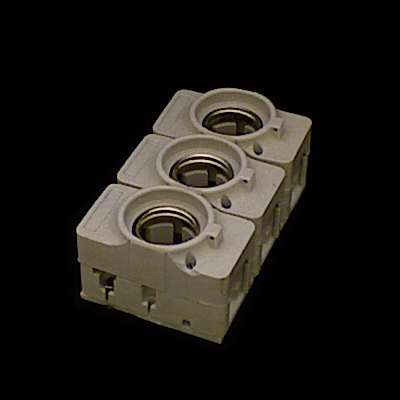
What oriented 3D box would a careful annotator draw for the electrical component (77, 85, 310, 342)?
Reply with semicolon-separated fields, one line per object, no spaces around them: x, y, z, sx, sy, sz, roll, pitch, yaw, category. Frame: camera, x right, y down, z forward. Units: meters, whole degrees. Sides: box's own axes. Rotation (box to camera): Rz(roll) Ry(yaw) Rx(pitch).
0.000;0.000;0.636;0.089;0.063;0.147;16;44;15;electrical component
